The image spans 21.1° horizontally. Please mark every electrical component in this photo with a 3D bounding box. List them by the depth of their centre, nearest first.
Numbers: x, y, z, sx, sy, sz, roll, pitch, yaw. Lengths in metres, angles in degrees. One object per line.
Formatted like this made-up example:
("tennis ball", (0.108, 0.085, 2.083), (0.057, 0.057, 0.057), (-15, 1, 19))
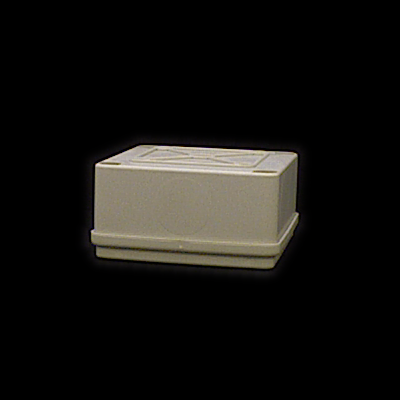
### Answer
("electrical component", (0.000, 0.000, 0.647), (0.108, 0.056, 0.108), (4, 10, 11))
